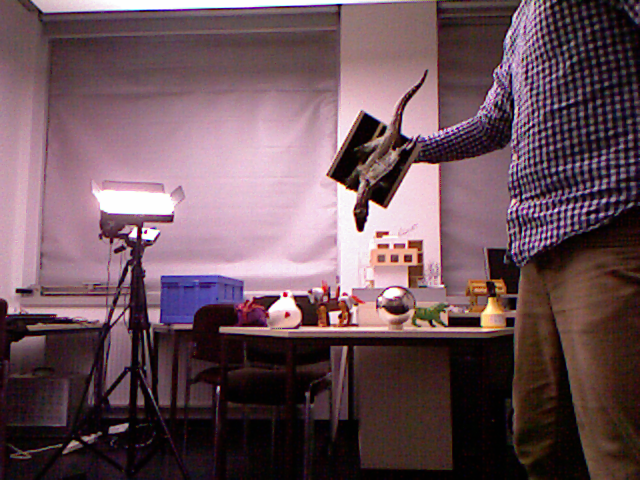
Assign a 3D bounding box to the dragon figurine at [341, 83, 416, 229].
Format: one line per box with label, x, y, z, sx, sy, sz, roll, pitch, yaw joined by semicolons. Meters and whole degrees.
dragon figurine;0.177;-0.221;1.339;0.122;0.408;0.247;24;11;-19
